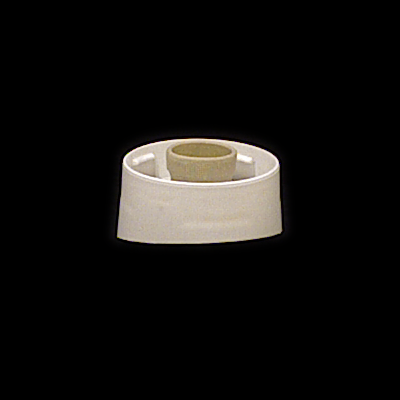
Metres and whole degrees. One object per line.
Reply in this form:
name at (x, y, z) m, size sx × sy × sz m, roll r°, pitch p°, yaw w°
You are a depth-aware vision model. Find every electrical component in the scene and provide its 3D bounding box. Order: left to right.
electrical component at (0.000, 0.000, 0.638) m, size 0.099 × 0.065 × 0.097 m, roll 1°, pitch 20°, yaw 0°
